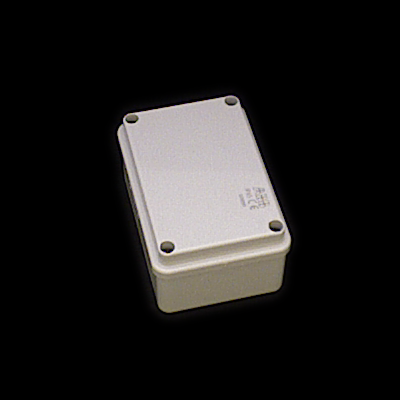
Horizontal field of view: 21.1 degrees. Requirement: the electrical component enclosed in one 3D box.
[{"bbox_3d":[0.000,0.000,0.629,0.078,0.112,0.057,-11,-37,-9],"label":"electrical component"}]
